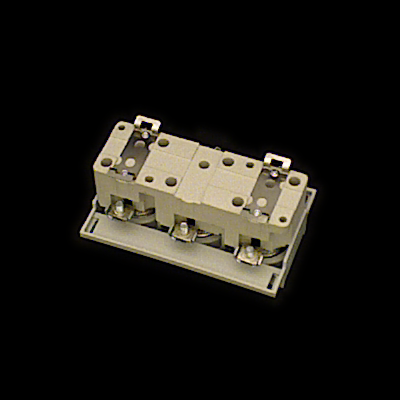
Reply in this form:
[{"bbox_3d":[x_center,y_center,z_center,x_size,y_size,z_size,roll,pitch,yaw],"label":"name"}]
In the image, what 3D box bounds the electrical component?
[{"bbox_3d":[0.000,0.000,0.633,0.121,0.079,0.063,17,-35,12],"label":"electrical component"}]
